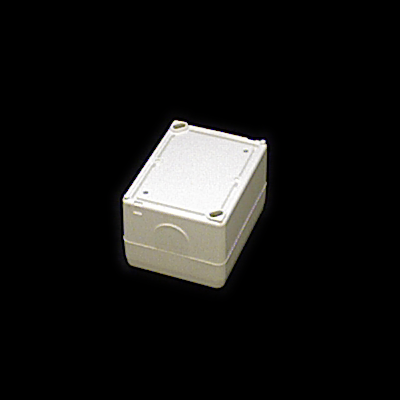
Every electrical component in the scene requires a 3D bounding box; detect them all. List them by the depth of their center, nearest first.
[{"bbox_3d":[0.000,0.000,0.637,0.061,0.062,0.095,14,43,15],"label":"electrical component"}]
